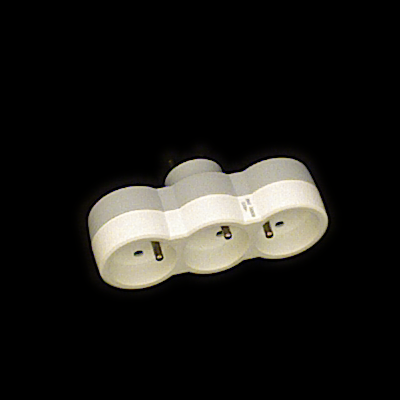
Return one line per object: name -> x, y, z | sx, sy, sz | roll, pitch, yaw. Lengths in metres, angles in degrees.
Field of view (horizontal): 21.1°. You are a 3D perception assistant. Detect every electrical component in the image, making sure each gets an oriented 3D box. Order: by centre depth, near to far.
electrical component -> 0.000, 0.000, 0.641 | 0.138, 0.073, 0.052 | -11, -38, -9
